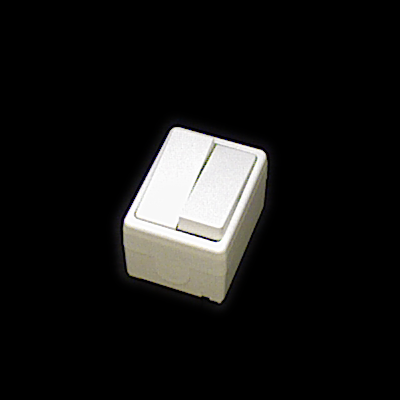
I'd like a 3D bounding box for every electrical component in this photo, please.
[{"bbox_3d":[0.000,0.000,0.630,0.061,0.096,0.061,17,-36,12],"label":"electrical component"}]
